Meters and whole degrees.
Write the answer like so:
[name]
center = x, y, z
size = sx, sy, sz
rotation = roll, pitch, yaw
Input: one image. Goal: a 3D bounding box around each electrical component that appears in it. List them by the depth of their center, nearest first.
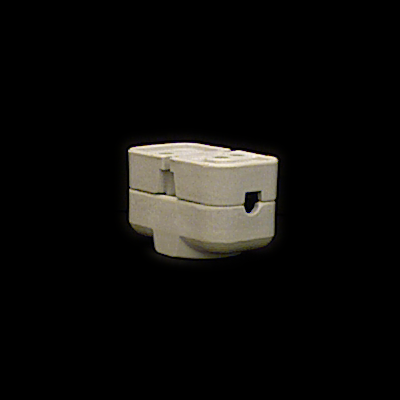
[electrical component]
center = 0.000, 0.000, 0.654
size = 0.054, 0.060, 0.094
rotation = -8, 14, -39
